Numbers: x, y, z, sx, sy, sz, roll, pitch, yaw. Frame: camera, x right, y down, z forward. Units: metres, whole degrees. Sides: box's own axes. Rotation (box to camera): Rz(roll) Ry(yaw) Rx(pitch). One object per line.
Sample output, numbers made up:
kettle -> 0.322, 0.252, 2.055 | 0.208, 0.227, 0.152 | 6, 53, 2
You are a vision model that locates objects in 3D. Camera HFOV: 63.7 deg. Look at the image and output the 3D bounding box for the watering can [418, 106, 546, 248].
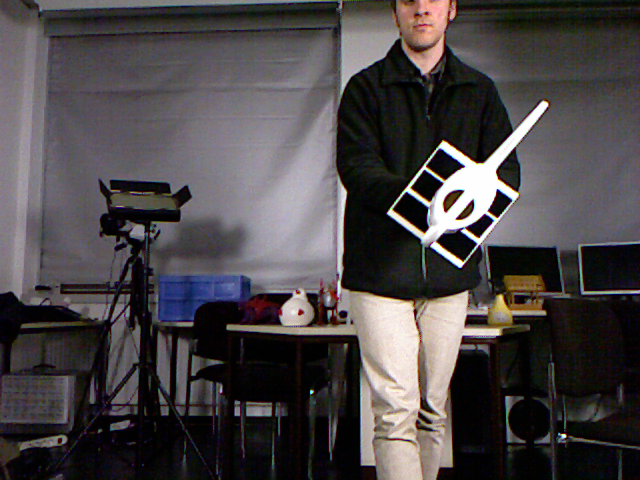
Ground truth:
watering can -> 0.321, -0.119, 1.069 | 0.104, 0.347, 0.225 | 41, 3, 1
